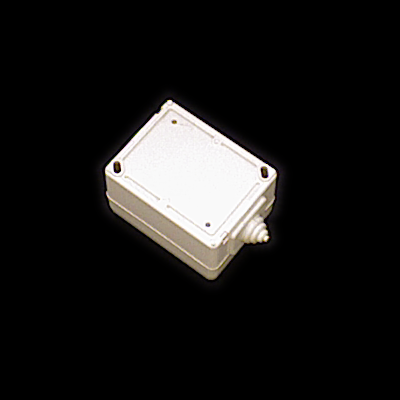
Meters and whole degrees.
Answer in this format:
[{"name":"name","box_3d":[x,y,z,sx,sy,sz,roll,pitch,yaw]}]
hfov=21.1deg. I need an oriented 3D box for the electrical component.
[{"name":"electrical component","box_3d":[0.000,0.000,0.626,0.096,0.062,0.060,35,-22,15]}]
